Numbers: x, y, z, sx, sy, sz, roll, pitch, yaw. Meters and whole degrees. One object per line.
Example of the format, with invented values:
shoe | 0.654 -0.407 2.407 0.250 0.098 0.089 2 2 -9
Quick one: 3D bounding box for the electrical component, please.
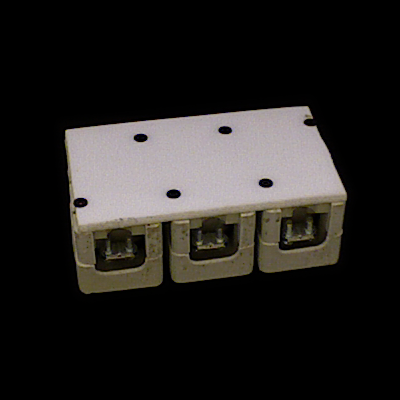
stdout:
electrical component | 0.000 0.000 0.634 0.150 0.063 0.088 -6 42 -7
